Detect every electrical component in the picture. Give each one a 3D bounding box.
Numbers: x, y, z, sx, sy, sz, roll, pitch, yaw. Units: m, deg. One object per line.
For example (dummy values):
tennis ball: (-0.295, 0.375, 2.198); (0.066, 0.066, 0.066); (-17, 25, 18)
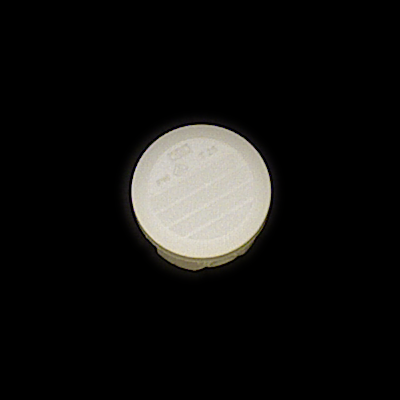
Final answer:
electrical component: (0.000, 0.000, 0.630); (0.080, 0.080, 0.050); (0, -17, 0)
